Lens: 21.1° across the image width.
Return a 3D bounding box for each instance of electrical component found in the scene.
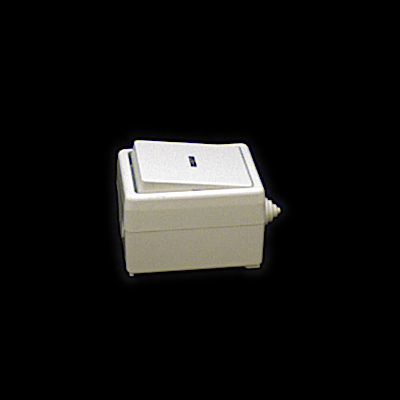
[{"bbox_3d":[0.000,0.000,0.634,0.096,0.061,0.061,-3,31,-8],"label":"electrical component"}]
